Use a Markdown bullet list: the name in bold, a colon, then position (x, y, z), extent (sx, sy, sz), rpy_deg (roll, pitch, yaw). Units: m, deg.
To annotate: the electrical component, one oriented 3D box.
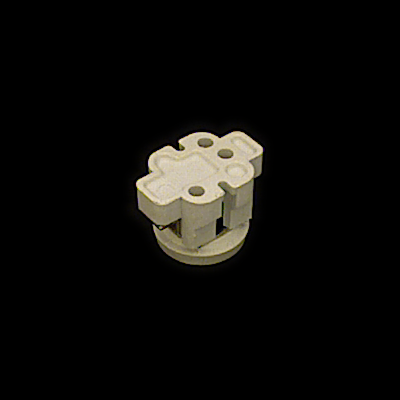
- **electrical component**: position (0.000, 0.000, 0.637), extent (0.079, 0.057, 0.057), rpy_deg (-30, 51, -27)
